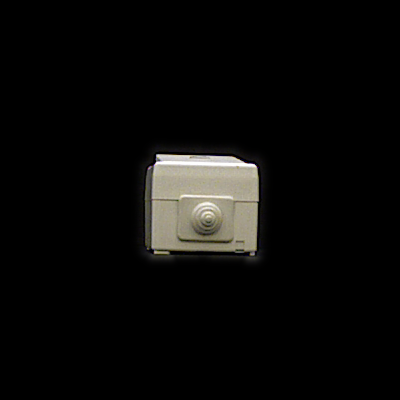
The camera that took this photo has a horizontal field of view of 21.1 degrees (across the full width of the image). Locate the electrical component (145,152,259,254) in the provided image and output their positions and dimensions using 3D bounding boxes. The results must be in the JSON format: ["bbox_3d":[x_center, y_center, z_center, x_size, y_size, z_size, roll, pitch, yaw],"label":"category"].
[{"bbox_3d":[0.000,0.000,0.647,0.062,0.061,0.096,1,0,-6],"label":"electrical component"}]
